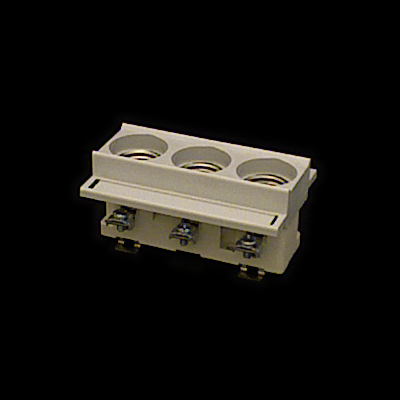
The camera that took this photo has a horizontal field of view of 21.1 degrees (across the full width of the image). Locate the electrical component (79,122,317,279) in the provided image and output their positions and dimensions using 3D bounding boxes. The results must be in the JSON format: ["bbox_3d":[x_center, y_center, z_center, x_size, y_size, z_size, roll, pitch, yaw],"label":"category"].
[{"bbox_3d":[0.000,0.000,0.648,0.121,0.064,0.078,12,32,18],"label":"electrical component"}]
